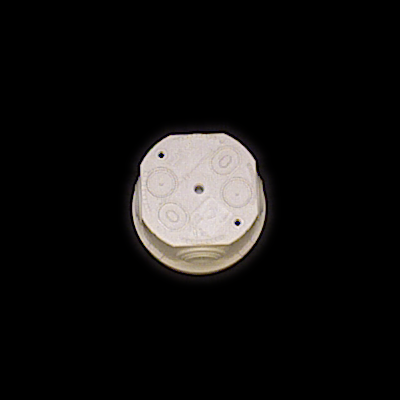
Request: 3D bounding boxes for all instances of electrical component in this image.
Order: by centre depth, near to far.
[{"bbox_3d":[0.000,0.000,0.632,0.080,0.080,0.050,0,-17,-1],"label":"electrical component"}]
